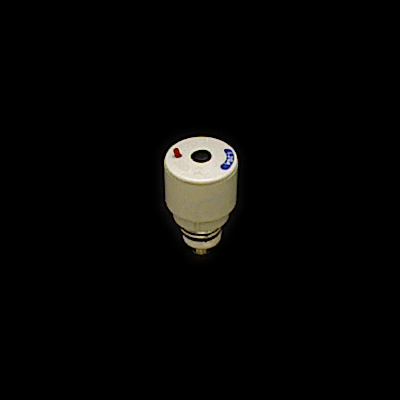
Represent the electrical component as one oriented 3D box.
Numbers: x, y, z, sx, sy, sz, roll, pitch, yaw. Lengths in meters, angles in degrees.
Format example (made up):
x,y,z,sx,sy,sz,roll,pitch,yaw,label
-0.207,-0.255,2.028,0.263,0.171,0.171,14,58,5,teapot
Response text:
x,y,z,sx,sy,sz,roll,pitch,yaw,label
0.000,0.000,0.625,0.040,0.079,0.039,0,42,0,electrical component
